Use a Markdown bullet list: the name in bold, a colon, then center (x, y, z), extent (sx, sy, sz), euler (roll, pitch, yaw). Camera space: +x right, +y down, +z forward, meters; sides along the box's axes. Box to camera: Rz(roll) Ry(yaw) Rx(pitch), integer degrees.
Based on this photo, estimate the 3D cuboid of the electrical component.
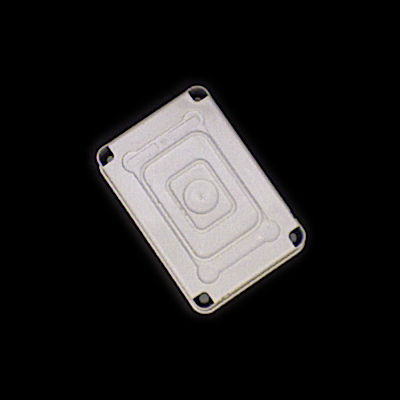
- **electrical component**: center (0.000, 0.000, 0.629), extent (0.078, 0.113, 0.057), euler (-34, -6, -3)
